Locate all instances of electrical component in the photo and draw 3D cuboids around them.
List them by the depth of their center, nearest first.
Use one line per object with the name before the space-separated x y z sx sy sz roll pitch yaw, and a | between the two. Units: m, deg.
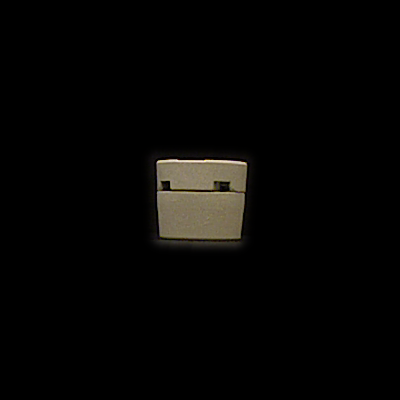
electrical component | 0.000 0.000 0.652 0.055 0.047 0.055 1 1 0
